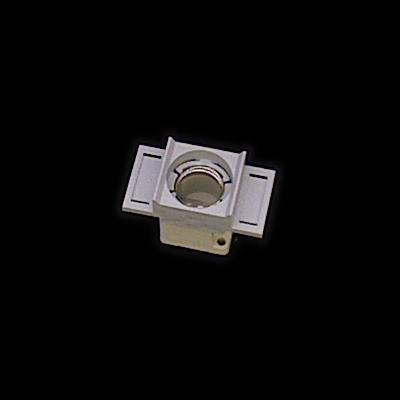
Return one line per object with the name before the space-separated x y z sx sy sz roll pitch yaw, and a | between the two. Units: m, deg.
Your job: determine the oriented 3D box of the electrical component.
electrical component | 0.000 0.000 0.624 0.081 0.042 0.063 11 -26 5
